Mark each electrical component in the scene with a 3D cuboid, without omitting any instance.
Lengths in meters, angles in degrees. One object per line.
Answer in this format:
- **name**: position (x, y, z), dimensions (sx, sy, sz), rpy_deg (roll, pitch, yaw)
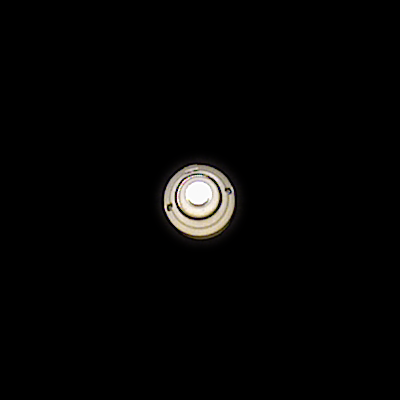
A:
- **electrical component**: position (0.000, 0.000, 0.618), dimensions (0.040, 0.040, 0.078), rpy_deg (0, -5, 1)
